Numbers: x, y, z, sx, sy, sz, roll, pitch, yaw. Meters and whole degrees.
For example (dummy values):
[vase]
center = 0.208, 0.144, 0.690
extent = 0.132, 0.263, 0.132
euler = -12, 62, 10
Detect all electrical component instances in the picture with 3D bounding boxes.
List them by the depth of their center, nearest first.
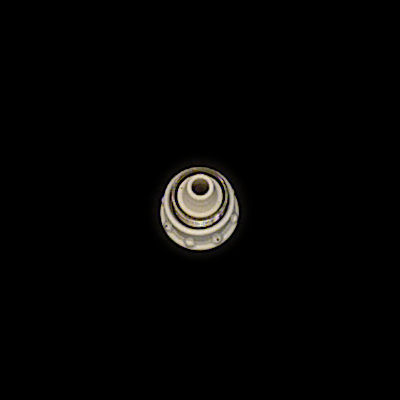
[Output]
[electrical component]
center = 0.000, 0.000, 0.633
extent = 0.048, 0.048, 0.061
euler = 0, -16, -1
